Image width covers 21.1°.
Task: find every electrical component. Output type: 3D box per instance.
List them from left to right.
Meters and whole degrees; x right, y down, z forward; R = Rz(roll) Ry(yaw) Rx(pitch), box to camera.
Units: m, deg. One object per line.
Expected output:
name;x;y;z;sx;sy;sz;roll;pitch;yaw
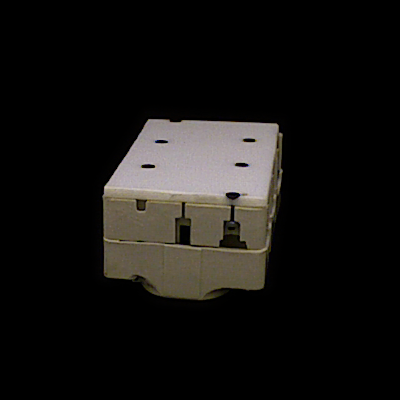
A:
electrical component;0.000;0.000;0.648;0.089;0.063;0.147;4;20;6
